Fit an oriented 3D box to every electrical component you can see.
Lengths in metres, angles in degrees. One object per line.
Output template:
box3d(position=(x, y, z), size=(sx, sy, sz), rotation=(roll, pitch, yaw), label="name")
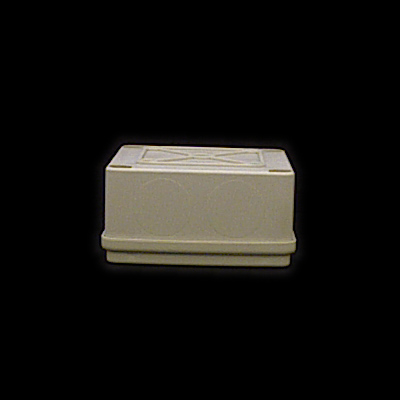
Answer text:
box3d(position=(0.000, 0.000, 0.644), size=(0.109, 0.056, 0.108), rotation=(2, 11, 1), label="electrical component")
